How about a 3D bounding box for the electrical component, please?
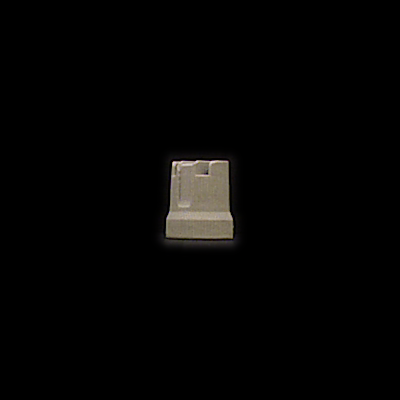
[{"bbox_3d":[0.000,0.000,0.650,0.040,0.046,0.040,1,1,0],"label":"electrical component"}]
